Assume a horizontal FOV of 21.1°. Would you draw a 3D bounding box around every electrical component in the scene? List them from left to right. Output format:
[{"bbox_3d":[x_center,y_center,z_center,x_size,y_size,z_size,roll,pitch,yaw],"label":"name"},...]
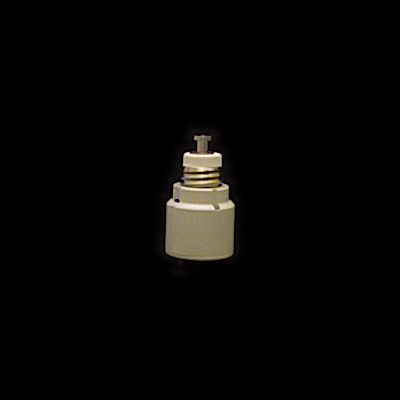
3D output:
[{"bbox_3d":[0.000,0.000,0.644,0.040,0.079,0.040,2,12,0],"label":"electrical component"}]
